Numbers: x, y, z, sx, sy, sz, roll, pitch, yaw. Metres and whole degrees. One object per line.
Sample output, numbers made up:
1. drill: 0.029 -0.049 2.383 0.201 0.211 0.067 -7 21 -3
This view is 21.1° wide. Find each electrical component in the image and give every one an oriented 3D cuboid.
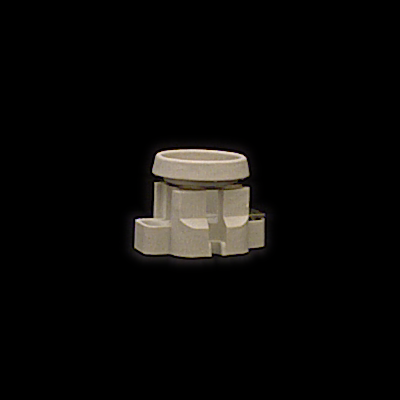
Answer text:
1. electrical component: 0.000 0.000 0.646 0.078 0.057 0.057 -3 12 -23
